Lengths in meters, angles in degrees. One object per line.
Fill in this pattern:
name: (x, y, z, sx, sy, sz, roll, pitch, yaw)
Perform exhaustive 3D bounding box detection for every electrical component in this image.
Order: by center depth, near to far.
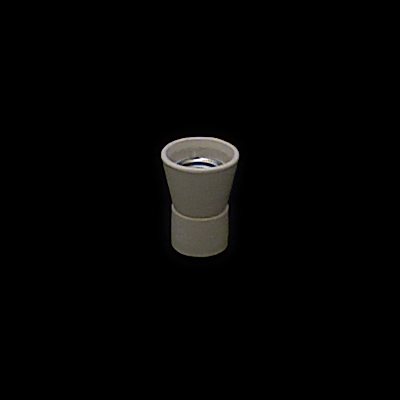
electrical component: (0.000, 0.000, 0.635, 0.044, 0.066, 0.044, 0, 30, 0)
